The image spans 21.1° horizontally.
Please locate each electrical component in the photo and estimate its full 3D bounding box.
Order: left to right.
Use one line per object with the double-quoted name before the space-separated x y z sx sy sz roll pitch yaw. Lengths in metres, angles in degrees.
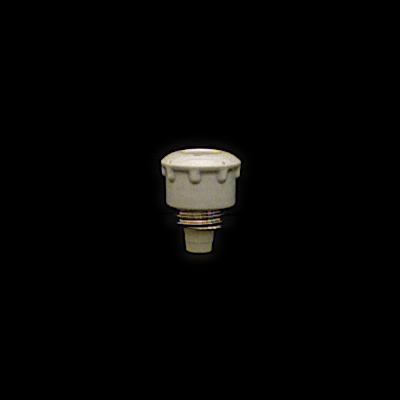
"electrical component" 0.000 0.000 0.651 0.048 0.062 0.048 1 11 0
